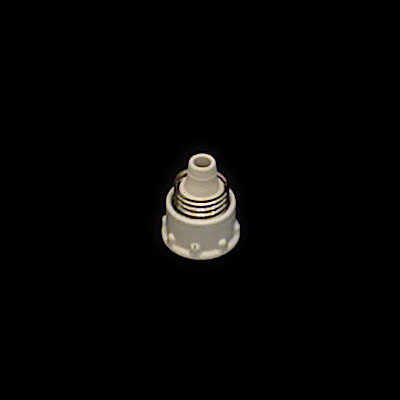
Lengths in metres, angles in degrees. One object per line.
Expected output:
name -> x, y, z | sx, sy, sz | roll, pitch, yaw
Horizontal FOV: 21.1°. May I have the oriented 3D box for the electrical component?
electrical component -> 0.000, 0.000, 0.639 | 0.048, 0.062, 0.047 | 1, 42, -1
